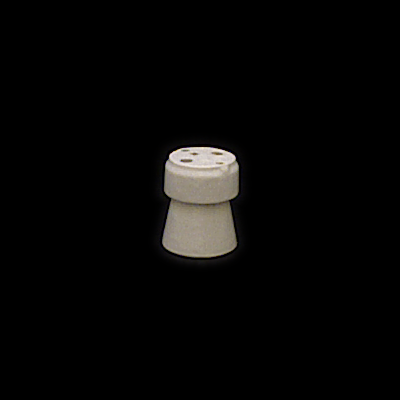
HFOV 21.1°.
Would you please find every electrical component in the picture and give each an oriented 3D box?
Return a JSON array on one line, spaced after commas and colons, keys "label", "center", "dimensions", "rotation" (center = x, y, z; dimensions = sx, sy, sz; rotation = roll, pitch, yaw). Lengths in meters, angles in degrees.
[{"label": "electrical component", "center": [0.000, 0.000, 0.641], "dimensions": [0.045, 0.056, 0.044], "rotation": [2, 21, 0]}]
